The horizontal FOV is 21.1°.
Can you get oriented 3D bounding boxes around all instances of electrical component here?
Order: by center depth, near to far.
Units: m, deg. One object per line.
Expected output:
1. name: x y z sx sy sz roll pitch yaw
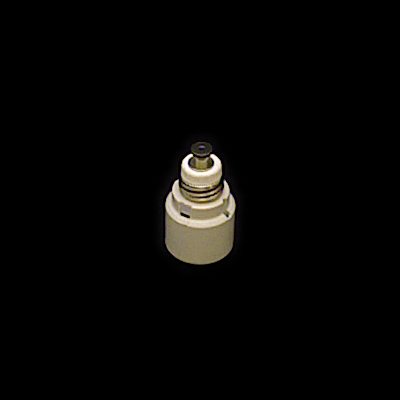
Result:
1. electrical component: 0.000 0.000 0.625 0.040 0.079 0.039 1 42 -1
